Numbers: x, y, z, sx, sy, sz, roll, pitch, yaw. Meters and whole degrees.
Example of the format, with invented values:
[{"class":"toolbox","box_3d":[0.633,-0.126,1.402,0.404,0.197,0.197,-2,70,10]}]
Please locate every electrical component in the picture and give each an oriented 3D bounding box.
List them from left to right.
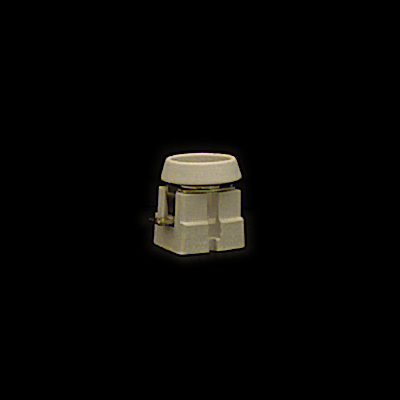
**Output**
[{"class":"electrical component","box_3d":[0.000,0.000,0.650,0.067,0.056,0.048,-6,12,-32]}]
